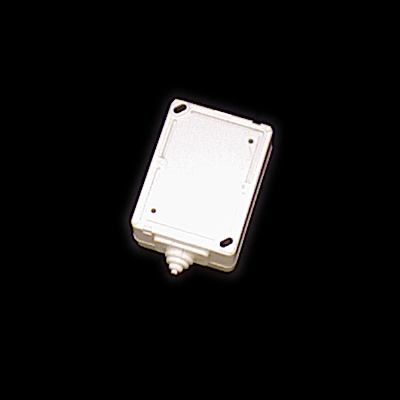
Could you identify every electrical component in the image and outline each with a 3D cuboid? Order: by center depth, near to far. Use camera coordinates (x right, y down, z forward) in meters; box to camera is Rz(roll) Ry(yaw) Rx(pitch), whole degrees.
[{"bbox_3d":[0.000,0.000,0.628,0.062,0.097,0.060,16,-16,5],"label":"electrical component"}]
